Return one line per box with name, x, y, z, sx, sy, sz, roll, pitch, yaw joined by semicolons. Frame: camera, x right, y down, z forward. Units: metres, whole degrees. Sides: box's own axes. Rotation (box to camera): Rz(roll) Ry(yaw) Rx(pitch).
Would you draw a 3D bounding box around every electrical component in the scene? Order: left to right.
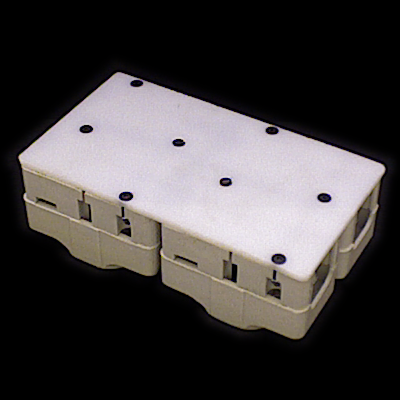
electrical component;0.000;0.000;0.630;0.185;0.061;0.105;22;46;22
